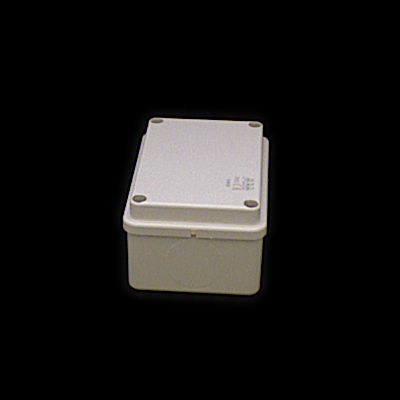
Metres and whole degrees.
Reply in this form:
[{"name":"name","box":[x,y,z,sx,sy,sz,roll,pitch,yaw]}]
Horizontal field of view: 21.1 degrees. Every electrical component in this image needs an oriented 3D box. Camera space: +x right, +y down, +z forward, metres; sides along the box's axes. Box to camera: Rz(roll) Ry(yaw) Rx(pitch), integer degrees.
[{"name":"electrical component","box":[0.000,0.000,0.634,0.078,0.058,0.111,3,31,2]}]
